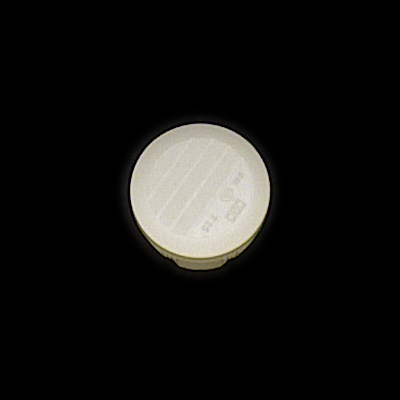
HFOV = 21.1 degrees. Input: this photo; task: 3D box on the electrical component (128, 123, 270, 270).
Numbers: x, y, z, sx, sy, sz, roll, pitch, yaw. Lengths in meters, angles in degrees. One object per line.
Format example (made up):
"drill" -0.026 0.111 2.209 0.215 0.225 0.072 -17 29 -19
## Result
"electrical component" 0.000 0.000 0.629 0.080 0.080 0.050 0 -17 0
